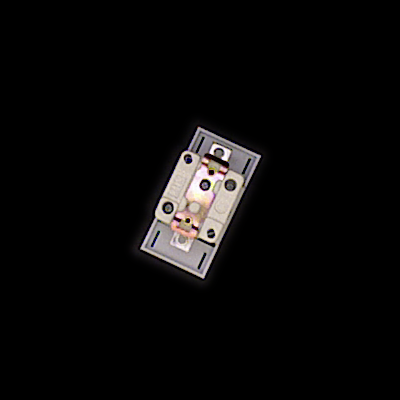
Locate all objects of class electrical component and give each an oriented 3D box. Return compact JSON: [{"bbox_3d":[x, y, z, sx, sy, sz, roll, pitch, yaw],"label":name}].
[{"bbox_3d":[0.000,0.000,0.626,0.042,0.081,0.063,24,-6,3],"label":"electrical component"}]
